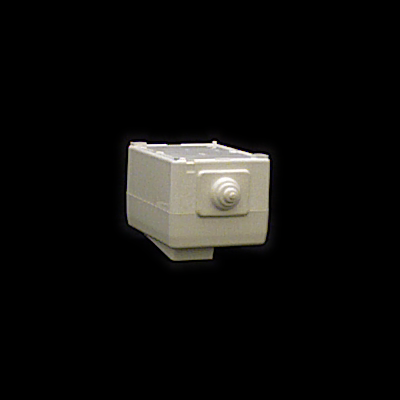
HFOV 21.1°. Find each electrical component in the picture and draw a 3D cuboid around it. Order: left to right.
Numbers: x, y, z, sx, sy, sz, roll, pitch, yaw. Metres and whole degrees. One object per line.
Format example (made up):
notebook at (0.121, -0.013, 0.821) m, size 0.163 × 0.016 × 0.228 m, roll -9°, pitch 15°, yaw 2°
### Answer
electrical component at (0.000, 0.000, 0.638) m, size 0.061 × 0.061 × 0.096 m, roll -3°, pitch 11°, yaw -23°
